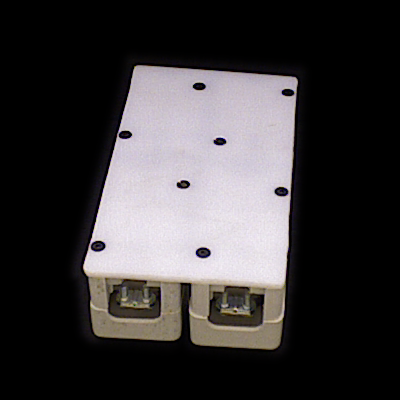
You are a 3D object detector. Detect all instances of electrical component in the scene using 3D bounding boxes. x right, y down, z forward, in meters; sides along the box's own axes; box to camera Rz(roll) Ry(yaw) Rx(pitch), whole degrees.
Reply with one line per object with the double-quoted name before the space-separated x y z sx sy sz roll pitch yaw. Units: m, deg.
"electrical component" 0.000 0.000 0.629 0.105 0.061 0.184 4 42 4
